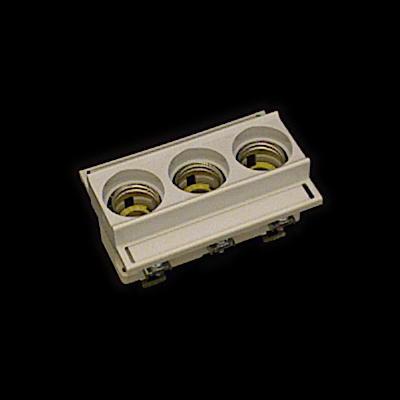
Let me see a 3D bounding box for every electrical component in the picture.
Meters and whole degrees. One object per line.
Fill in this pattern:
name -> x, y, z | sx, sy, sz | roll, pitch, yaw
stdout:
electrical component -> 0.000, 0.000, 0.639 | 0.122, 0.078, 0.063 | -19, -36, -14
